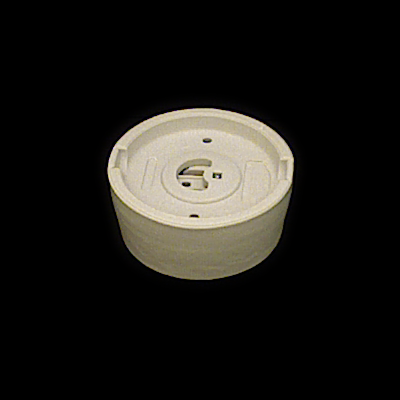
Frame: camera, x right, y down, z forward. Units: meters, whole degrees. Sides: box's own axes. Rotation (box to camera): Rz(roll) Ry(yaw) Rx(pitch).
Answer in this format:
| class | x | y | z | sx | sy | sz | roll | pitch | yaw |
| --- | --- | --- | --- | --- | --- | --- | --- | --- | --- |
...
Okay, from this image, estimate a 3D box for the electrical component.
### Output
| class | x | y | z | sx | sy | sz | roll | pitch | yaw |
| --- | --- | --- | --- | --- | --- | --- | --- | --- | --- |
| electrical component | 0.000 | 0.000 | 0.639 | 0.108 | 0.061 | 0.106 | 0 | 42 | 0 |
